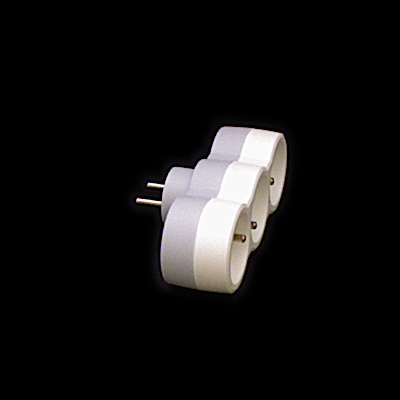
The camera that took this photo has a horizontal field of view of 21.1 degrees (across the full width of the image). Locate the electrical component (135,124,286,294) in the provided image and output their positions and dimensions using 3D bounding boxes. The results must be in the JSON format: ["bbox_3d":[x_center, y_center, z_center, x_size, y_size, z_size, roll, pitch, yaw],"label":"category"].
[{"bbox_3d":[0.000,0.000,0.634,0.073,0.053,0.137,8,33,15],"label":"electrical component"}]
